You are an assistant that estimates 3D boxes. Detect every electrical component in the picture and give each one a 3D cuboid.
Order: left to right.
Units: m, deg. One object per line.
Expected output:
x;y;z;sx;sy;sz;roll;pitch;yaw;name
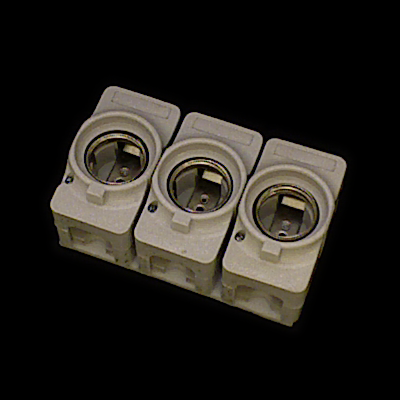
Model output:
0.000;0.000;0.631;0.150;0.089;0.062;18;-25;9;electrical component
